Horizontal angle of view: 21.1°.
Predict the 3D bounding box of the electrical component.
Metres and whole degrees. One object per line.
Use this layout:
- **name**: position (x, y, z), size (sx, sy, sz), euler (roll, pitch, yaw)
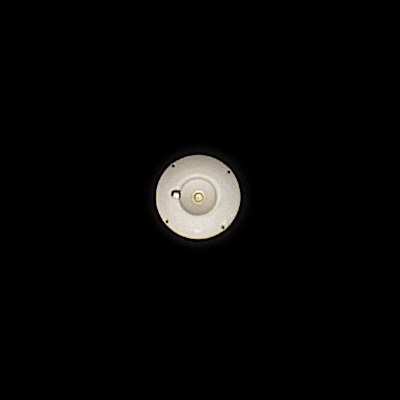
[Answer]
- **electrical component**: position (0.000, 0.000, 0.634), size (0.048, 0.048, 0.061), euler (0, -6, 1)
